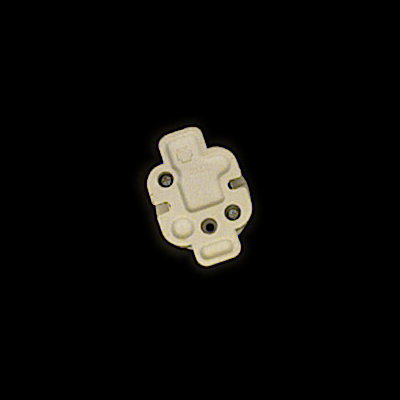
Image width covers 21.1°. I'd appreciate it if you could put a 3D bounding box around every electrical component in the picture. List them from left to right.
[{"bbox_3d":[0.000,0.000,0.637,0.058,0.078,0.056,-20,-7,0],"label":"electrical component"}]
